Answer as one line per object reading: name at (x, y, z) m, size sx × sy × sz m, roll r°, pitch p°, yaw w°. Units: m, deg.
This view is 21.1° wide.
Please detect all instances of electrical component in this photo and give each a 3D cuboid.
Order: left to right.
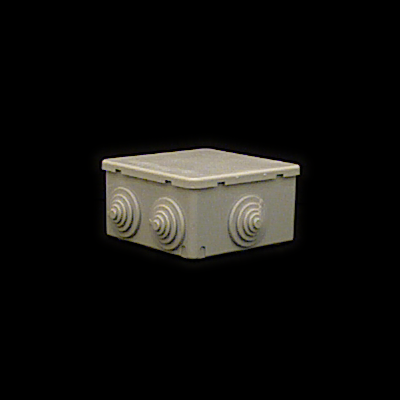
electrical component at (0.000, 0.000, 0.651) m, size 0.100 × 0.049 × 0.098 m, roll -9°, pitch 15°, yaw -41°
